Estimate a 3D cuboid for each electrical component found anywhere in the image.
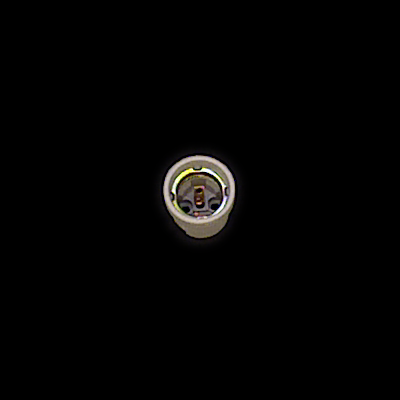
[{"bbox_3d":[0.000,0.000,0.627,0.040,0.040,0.046,0,-17,0],"label":"electrical component"}]
